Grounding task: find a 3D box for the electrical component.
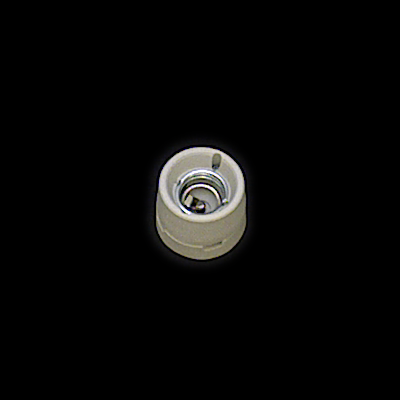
[{"bbox_3d":[0.000,0.000,0.633,0.055,0.055,0.047,0,-28,-1],"label":"electrical component"}]
